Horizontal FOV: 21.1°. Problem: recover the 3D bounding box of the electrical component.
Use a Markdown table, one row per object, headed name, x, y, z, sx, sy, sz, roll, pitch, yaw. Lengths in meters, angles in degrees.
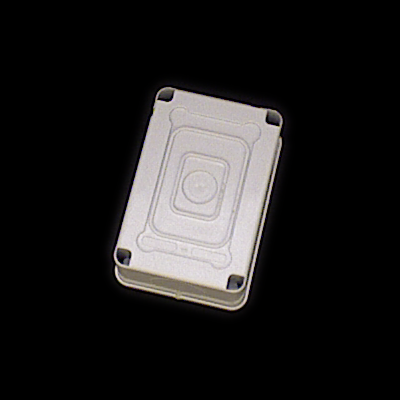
| name | x | y | z | sx | sy | sz | roll | pitch | yaw |
| --- | --- | --- | --- | --- | --- | --- | --- | --- | --- |
| electrical component | 0.000 | 0.000 | 0.627 | 0.078 | 0.113 | 0.057 | 13 | -16 | 3 |
